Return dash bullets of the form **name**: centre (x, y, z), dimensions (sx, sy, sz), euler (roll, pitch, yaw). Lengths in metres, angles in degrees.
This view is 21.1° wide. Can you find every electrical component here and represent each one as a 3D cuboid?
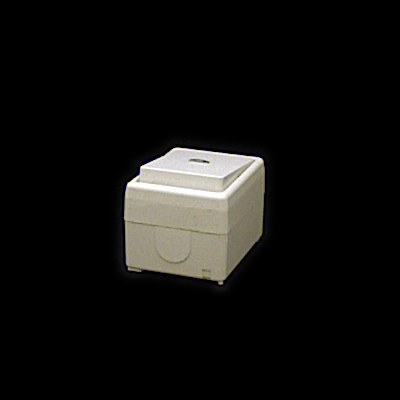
- **electrical component**: centre (0.000, 0.000, 0.641), dimensions (0.061, 0.061, 0.095), euler (8, 22, 18)
